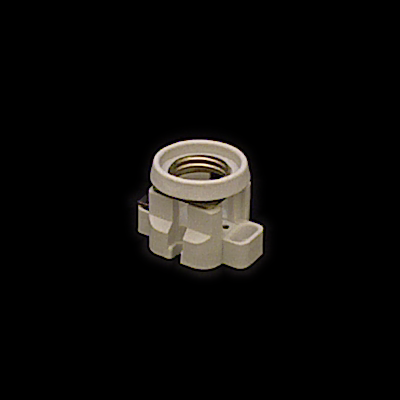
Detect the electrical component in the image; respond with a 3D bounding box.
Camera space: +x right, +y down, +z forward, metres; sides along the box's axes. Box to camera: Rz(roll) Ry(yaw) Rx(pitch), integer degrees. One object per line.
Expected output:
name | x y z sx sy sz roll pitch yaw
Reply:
electrical component | 0.000 0.000 0.635 0.078 0.057 0.057 19 36 27
